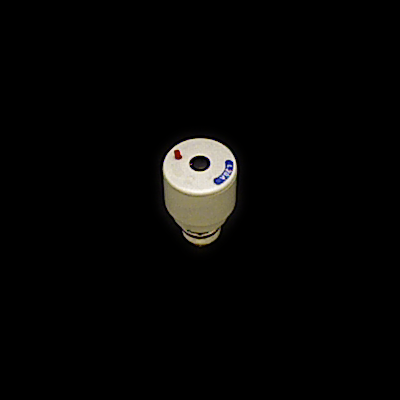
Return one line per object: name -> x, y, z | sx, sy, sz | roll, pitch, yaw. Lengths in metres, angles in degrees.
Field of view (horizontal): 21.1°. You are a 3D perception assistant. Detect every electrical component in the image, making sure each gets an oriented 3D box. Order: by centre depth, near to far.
electrical component -> 0.000, 0.000, 0.621 | 0.040, 0.040, 0.079 | 0, -38, 0
